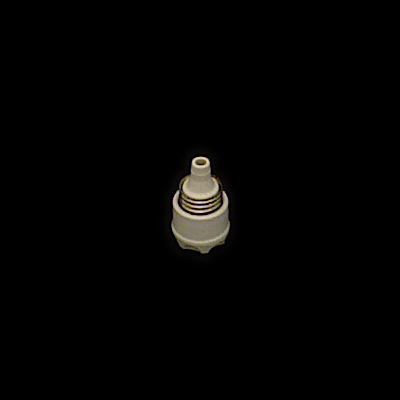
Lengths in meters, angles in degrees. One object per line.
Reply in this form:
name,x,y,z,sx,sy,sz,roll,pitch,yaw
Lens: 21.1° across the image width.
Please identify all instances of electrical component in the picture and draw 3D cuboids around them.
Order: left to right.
electrical component,0.000,0.000,0.642,0.035,0.062,0.035,1,41,0
